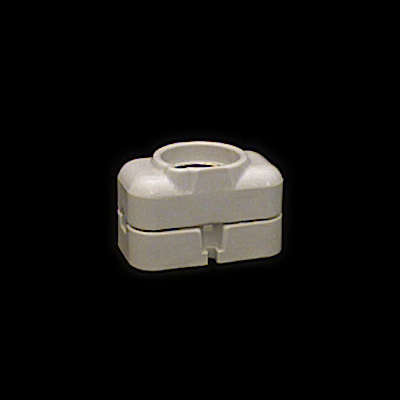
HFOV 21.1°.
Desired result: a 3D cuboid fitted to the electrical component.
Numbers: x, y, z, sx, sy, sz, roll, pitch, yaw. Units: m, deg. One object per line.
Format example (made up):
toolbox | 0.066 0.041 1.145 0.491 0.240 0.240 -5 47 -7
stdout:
electrical component | 0.000 0.000 0.644 0.095 0.060 0.053 -6 23 -17
